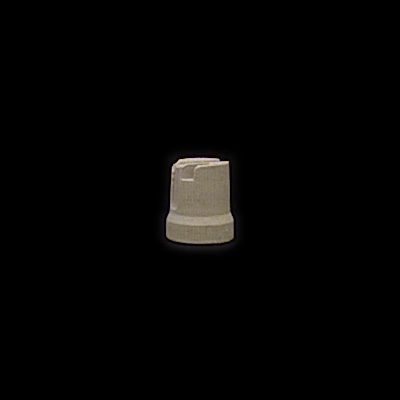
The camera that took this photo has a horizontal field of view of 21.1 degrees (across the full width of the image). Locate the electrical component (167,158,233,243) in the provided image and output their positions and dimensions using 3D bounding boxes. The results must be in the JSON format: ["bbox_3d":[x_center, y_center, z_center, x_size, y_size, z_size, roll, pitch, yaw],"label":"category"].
[{"bbox_3d":[0.000,0.000,0.646,0.040,0.046,0.040,1,11,0],"label":"electrical component"}]
